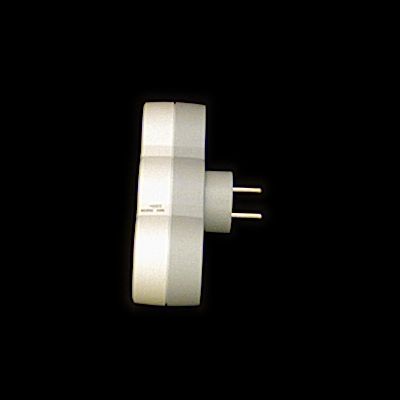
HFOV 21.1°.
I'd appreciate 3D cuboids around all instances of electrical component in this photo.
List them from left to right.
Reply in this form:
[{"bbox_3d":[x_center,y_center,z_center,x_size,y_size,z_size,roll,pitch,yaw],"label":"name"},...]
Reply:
[{"bbox_3d":[0.000,0.000,0.638,0.074,0.138,0.052,2,-37,-1],"label":"electrical component"}]
